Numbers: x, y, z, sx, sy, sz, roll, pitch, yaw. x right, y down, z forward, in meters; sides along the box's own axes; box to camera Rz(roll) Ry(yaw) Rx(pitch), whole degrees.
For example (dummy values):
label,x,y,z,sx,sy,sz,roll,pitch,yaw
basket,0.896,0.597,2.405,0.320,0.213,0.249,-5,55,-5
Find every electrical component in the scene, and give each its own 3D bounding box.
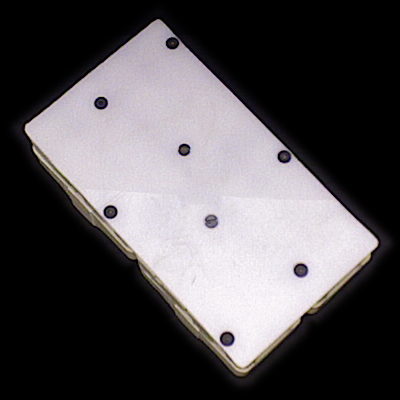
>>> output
label,x,y,z,sx,sy,sz,roll,pitch,yaw
electrical component,0.000,0.000,0.625,0.106,0.186,0.060,-41,-12,-11
